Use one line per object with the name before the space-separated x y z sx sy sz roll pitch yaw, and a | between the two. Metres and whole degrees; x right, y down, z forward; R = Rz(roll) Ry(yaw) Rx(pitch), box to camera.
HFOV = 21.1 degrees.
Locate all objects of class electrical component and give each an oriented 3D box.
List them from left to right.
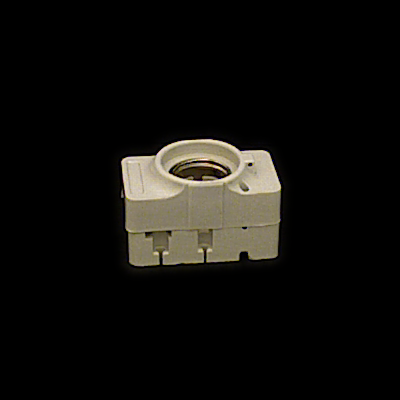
electrical component | 0.000 0.000 0.642 0.090 0.056 0.049 -4 33 -7
